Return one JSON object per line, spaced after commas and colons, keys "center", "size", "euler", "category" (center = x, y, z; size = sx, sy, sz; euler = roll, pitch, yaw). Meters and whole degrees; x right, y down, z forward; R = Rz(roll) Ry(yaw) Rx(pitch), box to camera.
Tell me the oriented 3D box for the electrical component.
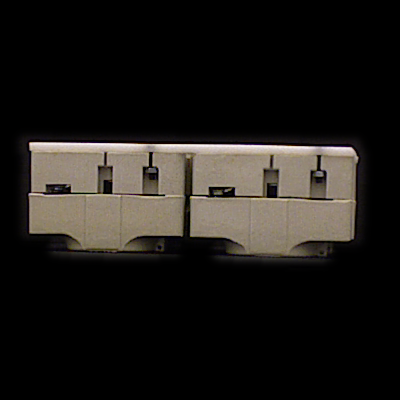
{"center": [0.000, 0.000, 0.649], "size": [0.186, 0.060, 0.105], "euler": [1, -1, 10], "category": "electrical component"}
